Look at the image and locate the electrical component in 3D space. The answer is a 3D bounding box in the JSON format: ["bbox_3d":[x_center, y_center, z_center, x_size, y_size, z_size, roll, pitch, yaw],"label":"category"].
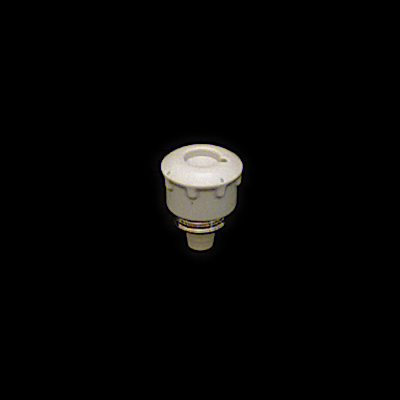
[{"bbox_3d":[0.000,0.000,0.643,0.048,0.063,0.047,1,32,0],"label":"electrical component"}]
